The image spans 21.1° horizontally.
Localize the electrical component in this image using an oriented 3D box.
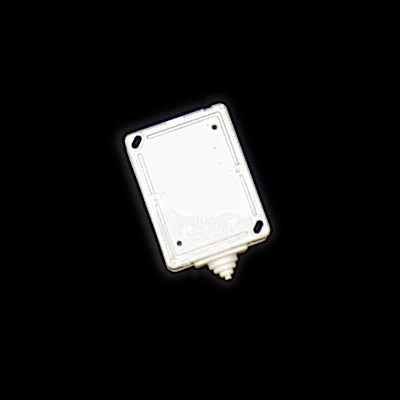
[{"bbox_3d":[-0.001,0.000,0.626,0.062,0.096,0.060,-19,-7,-2],"label":"electrical component"}]
